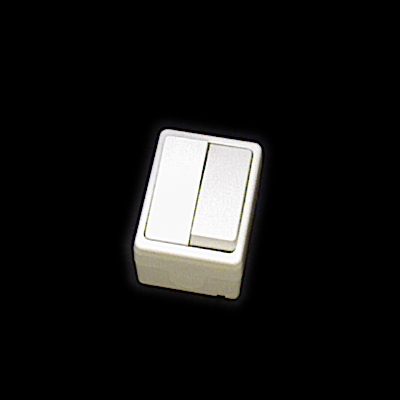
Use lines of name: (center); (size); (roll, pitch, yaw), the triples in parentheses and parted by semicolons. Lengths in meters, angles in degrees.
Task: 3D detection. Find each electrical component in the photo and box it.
electrical component: (0.000, 0.000, 0.628); (0.062, 0.096, 0.061); (10, -27, 5)
